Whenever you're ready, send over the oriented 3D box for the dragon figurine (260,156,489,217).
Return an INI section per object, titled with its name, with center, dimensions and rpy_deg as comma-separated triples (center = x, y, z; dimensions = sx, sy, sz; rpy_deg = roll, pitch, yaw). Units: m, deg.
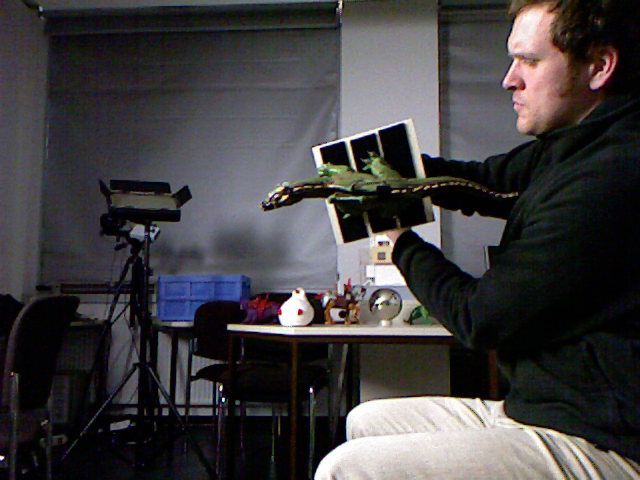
[dragon figurine]
center = 0.101, -0.085, 0.904
dimensions = 0.412, 0.122, 0.246
rpy_deg = -3, 10, 9
